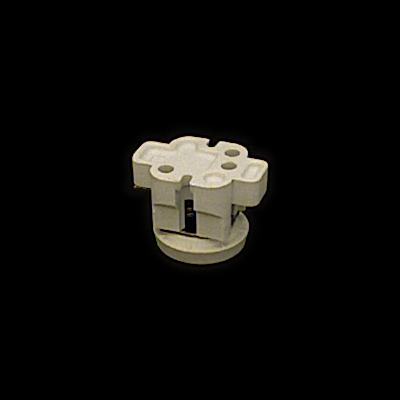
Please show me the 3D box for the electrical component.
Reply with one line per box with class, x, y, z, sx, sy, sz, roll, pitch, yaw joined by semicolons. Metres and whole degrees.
electrical component;0.000;0.000;0.641;0.078;0.057;0.057;9;34;15
